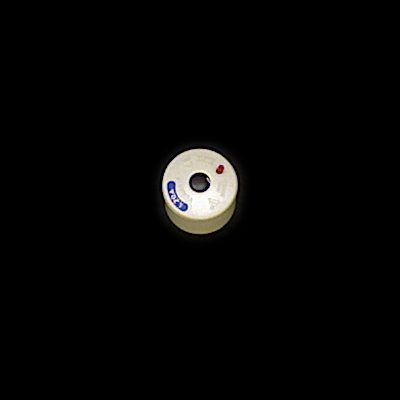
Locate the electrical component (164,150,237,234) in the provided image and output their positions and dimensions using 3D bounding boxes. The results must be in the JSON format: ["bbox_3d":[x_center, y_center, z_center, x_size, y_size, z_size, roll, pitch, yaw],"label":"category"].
[{"bbox_3d":[0.000,0.000,0.617,0.040,0.040,0.078,0,-17,0],"label":"electrical component"}]
